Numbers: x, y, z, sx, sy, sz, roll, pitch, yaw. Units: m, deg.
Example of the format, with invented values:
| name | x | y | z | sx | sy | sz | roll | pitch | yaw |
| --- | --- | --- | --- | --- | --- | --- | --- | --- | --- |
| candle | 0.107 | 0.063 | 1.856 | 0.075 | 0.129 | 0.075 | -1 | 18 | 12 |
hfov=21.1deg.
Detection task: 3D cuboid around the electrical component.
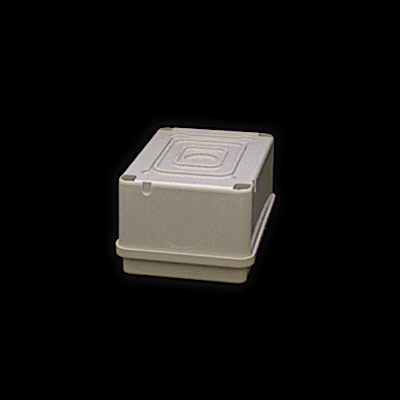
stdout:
| name | x | y | z | sx | sy | sz | roll | pitch | yaw |
| --- | --- | --- | --- | --- | --- | --- | --- | --- | --- |
| electrical component | 0.000 | 0.000 | 0.639 | 0.078 | 0.058 | 0.112 | 5 | 21 | 10 |
